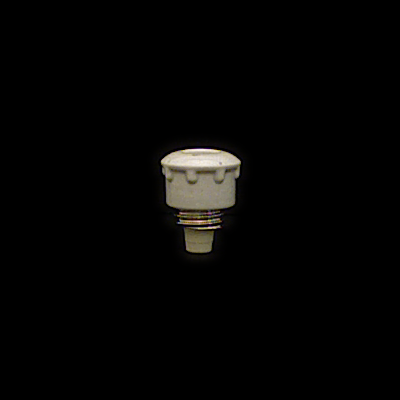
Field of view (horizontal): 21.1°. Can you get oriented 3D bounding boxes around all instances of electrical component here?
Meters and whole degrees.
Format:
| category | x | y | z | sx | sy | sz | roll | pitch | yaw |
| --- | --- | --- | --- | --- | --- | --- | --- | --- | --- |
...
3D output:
| category | x | y | z | sx | sy | sz | roll | pitch | yaw |
| --- | --- | --- | --- | --- | --- | --- | --- | --- | --- |
| electrical component | 0.000 | 0.000 | 0.650 | 0.048 | 0.062 | 0.048 | 1 | 11 | 0 |
